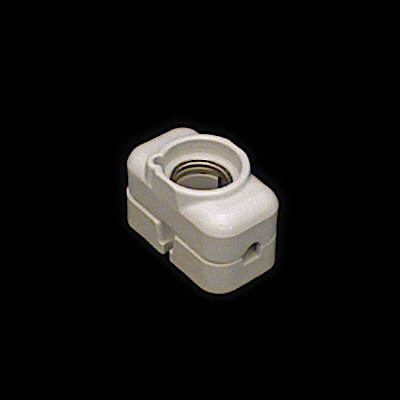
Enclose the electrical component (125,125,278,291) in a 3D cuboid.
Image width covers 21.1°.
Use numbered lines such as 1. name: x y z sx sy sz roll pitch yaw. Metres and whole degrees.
1. electrical component: 0.000 0.000 0.637 0.054 0.060 0.094 -29 50 -29
